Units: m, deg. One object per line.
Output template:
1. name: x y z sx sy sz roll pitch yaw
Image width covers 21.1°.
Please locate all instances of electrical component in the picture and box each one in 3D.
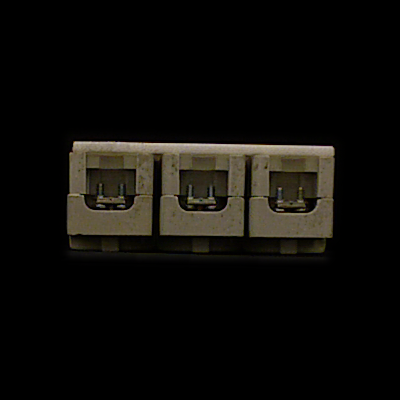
1. electrical component: -0.001 0.000 0.654 0.150 0.062 0.089 1 -1 -3
